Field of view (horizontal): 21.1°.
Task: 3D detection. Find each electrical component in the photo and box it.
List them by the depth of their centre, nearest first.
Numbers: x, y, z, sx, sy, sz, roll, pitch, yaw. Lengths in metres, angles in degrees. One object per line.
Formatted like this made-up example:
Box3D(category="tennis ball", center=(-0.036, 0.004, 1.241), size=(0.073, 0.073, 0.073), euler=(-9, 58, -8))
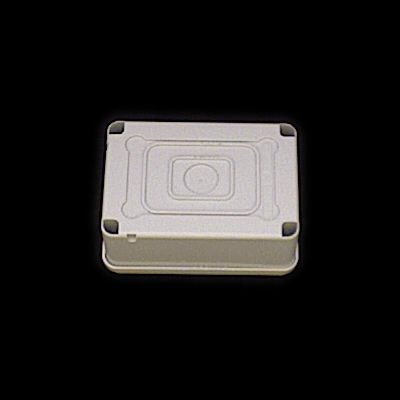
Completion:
Box3D(category="electrical component", center=(0.000, 0.000, 0.628), size=(0.113, 0.078, 0.057), euler=(1, -27, 0))
